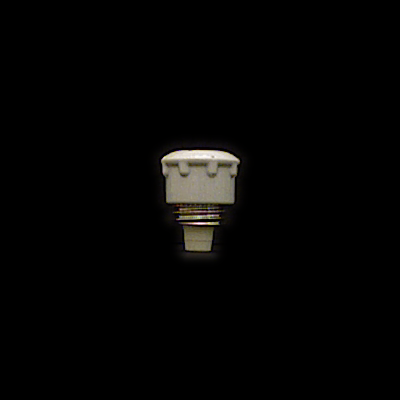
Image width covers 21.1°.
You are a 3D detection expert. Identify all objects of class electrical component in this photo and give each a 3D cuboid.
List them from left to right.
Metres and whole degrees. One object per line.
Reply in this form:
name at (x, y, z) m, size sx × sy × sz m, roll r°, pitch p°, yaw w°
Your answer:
electrical component at (0.000, 0.000, 0.655) m, size 0.048 × 0.062 × 0.048 m, roll 1°, pitch 2°, yaw 0°
